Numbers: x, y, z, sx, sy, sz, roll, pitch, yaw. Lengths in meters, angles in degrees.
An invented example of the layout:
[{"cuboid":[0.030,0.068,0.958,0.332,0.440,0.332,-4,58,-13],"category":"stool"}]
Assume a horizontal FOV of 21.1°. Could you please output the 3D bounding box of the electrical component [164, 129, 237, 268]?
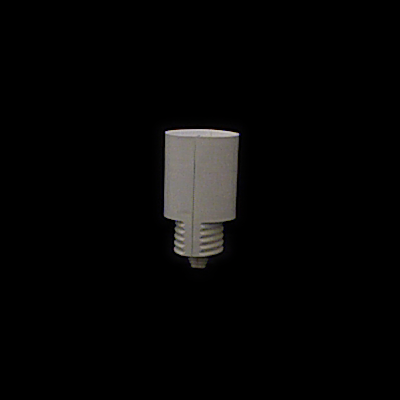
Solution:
[{"cuboid":[0.000,0.000,0.640,0.043,0.082,0.042,0,12,0],"category":"electrical component"}]
